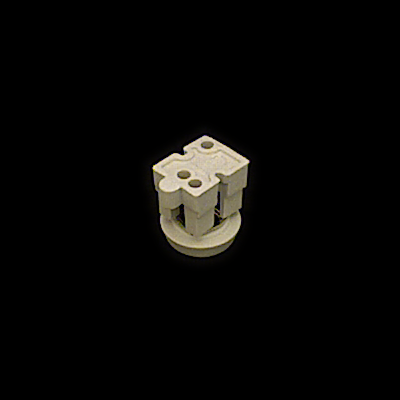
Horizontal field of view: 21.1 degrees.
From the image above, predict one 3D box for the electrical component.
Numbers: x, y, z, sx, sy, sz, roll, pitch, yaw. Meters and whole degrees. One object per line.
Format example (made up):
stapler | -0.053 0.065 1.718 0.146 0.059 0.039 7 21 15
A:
electrical component | 0.000 0.000 0.639 0.048 0.056 0.067 33 51 32
